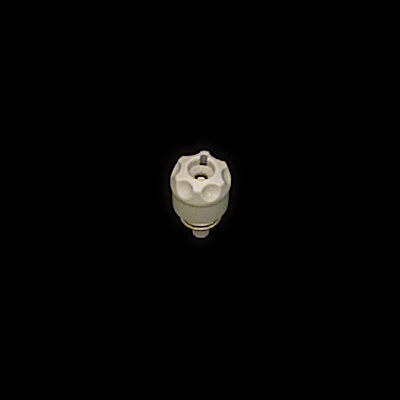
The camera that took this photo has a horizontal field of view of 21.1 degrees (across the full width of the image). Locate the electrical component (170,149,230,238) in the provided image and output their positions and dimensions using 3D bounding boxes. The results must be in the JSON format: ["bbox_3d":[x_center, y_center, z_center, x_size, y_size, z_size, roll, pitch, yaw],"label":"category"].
[{"bbox_3d":[0.000,0.000,0.636,0.035,0.035,0.062,0,-37,0],"label":"electrical component"}]
